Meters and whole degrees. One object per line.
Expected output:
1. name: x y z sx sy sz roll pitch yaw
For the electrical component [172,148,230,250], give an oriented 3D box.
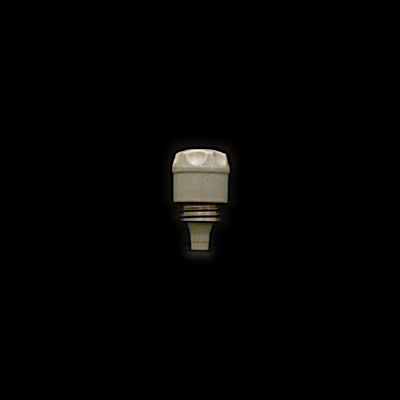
1. electrical component: 0.000 0.000 0.658 0.035 0.061 0.035 1 1 1
